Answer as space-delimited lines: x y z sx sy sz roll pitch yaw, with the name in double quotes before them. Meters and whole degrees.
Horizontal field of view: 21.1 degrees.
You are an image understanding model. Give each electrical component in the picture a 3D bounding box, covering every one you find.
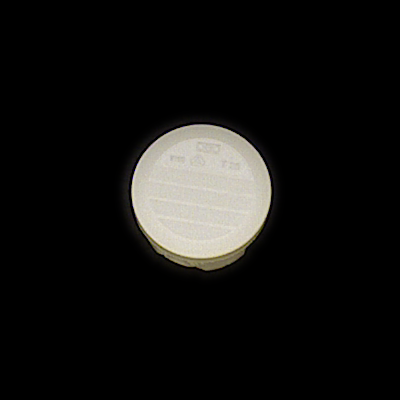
"electrical component" 0.000 0.000 0.630 0.080 0.080 0.050 0 -17 0
